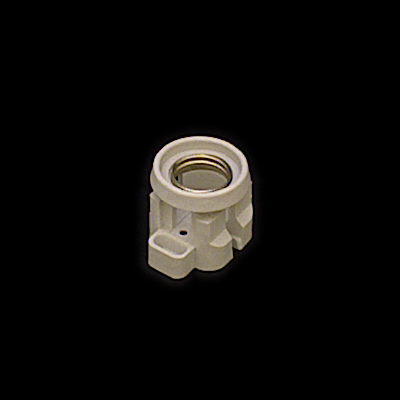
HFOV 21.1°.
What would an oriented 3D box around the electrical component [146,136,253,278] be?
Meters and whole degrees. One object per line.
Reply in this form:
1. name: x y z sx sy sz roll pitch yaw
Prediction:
1. electrical component: 0.000 0.000 0.633 0.057 0.057 0.078 26 48 25
